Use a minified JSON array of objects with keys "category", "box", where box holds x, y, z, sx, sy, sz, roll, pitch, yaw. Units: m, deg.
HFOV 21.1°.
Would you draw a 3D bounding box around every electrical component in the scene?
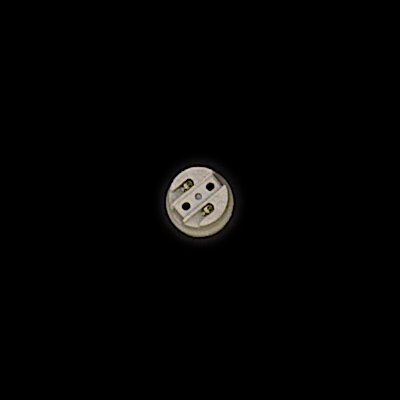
[{"category":"electrical component","box":[0.000,0.000,0.634,0.040,0.040,0.046,0,-7,0]}]
